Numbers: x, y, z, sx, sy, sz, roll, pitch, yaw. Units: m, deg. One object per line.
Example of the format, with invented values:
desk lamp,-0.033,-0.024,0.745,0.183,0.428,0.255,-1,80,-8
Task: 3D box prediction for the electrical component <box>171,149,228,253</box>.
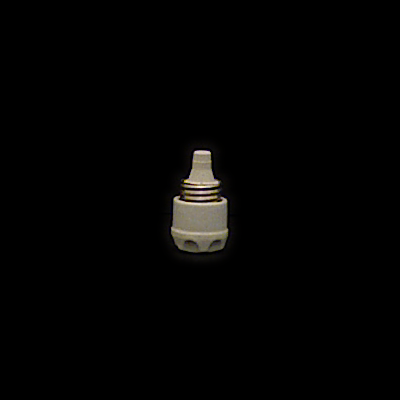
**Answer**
electrical component,0.000,0.000,0.659,0.035,0.062,0.035,2,13,0
